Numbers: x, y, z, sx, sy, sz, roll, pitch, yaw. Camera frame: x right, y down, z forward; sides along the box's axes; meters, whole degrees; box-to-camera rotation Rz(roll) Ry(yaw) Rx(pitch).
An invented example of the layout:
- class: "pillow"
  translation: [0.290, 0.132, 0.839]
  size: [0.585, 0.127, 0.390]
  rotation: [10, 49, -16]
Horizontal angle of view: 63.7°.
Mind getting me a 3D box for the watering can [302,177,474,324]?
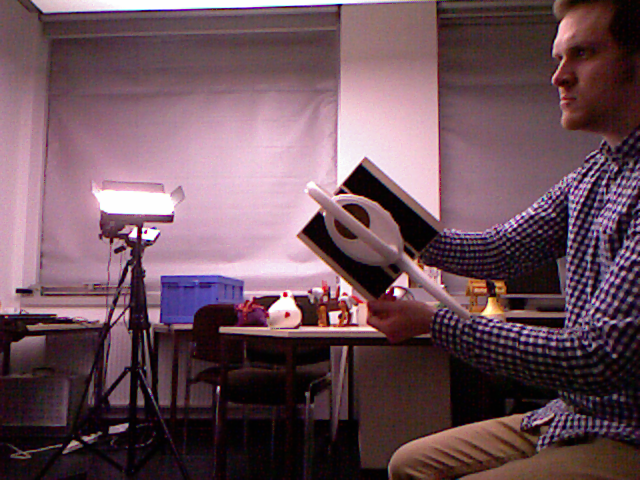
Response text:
- class: "watering can"
  translation: [0.110, 0.008, 0.893]
  size: [0.350, 0.104, 0.226]
  rotation: [40, 11, 3]
